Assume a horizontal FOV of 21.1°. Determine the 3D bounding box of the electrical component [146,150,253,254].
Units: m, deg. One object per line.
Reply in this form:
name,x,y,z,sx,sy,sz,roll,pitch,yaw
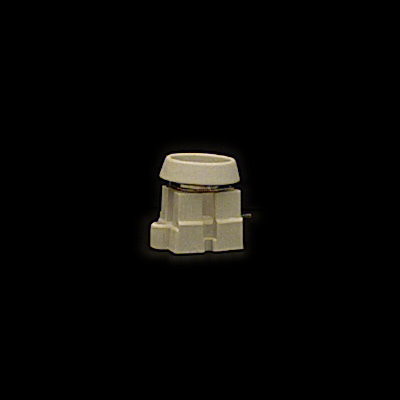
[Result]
electrical component,0.000,0.000,0.653,0.067,0.056,0.047,-3,15,-22
